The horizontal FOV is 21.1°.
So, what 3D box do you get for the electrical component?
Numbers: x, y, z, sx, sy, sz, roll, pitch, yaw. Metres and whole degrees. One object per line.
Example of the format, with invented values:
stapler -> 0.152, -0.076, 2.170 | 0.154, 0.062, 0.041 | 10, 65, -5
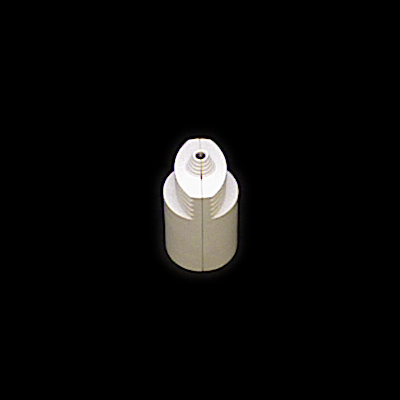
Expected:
electrical component -> 0.000, 0.000, 0.620 | 0.043, 0.043, 0.081 | 0, -38, 0
